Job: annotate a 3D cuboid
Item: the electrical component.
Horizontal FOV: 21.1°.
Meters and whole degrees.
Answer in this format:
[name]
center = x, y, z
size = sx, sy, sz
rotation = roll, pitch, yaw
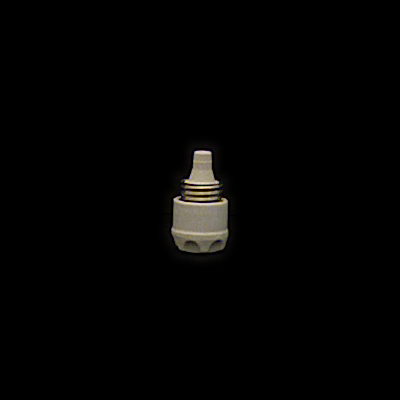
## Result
[electrical component]
center = 0.000, 0.000, 0.657
size = 0.035, 0.062, 0.035
rotation = 3, 12, 0
